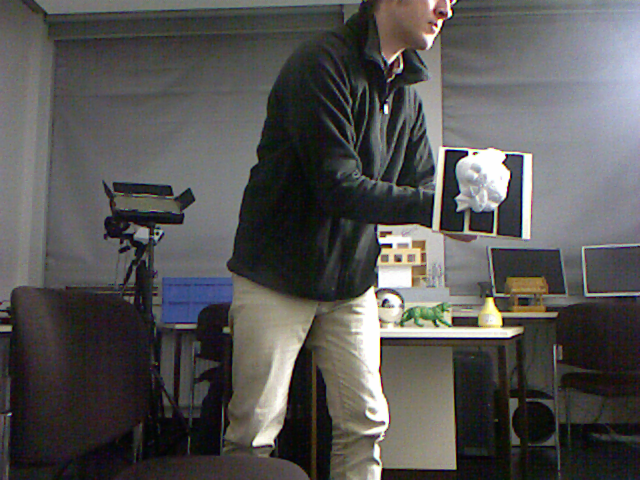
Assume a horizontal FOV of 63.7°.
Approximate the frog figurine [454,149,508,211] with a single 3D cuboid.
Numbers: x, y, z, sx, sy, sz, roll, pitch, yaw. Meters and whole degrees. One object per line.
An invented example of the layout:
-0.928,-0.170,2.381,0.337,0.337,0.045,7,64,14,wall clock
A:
0.339,-0.131,1.072,0.123,0.139,0.158,27,-12,9,frog figurine
